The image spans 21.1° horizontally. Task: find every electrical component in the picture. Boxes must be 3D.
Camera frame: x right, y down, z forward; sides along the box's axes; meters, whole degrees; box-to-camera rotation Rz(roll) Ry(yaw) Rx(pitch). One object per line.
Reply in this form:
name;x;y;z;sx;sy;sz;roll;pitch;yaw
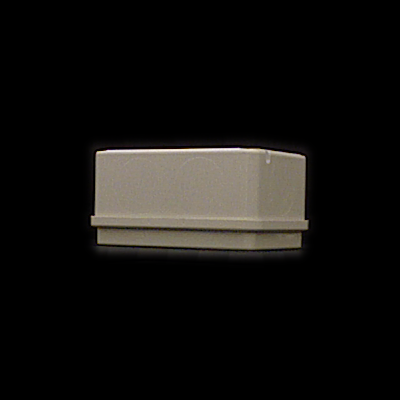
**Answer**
electrical component;0.000;0.000;0.649;0.113;0.057;0.078;1;0;30
